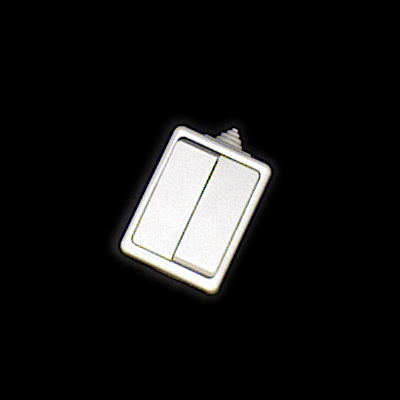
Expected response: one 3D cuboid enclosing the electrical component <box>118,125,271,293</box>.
[{"bbox_3d":[0.000,0.000,0.627,0.062,0.096,0.061,25,-6,3],"label":"electrical component"}]
